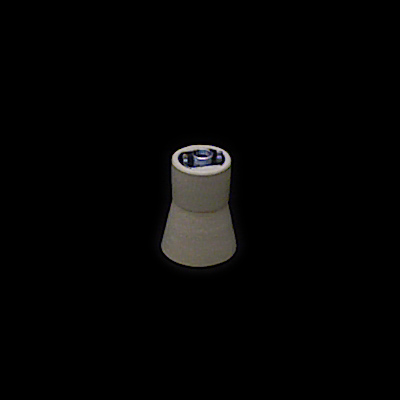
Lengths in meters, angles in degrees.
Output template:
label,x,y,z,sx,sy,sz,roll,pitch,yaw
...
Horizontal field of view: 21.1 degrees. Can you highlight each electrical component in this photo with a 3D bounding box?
label,x,y,z,sx,sy,sz,roll,pitch,yaw
electrical component,0.000,0.000,0.631,0.044,0.066,0.044,1,32,-1
